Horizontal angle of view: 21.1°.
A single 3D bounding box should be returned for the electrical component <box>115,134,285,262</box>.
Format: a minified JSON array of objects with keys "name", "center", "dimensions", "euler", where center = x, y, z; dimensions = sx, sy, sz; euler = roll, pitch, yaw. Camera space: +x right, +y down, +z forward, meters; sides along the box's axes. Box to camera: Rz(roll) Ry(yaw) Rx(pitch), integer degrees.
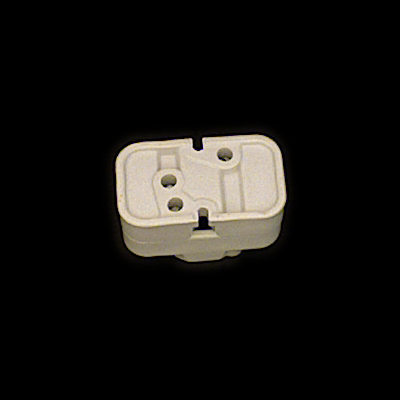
[{"name":"electrical component","center":[0.000,0.000,0.634],"dimensions":[0.095,0.054,0.059],"euler":[-4,-27,-2]}]
